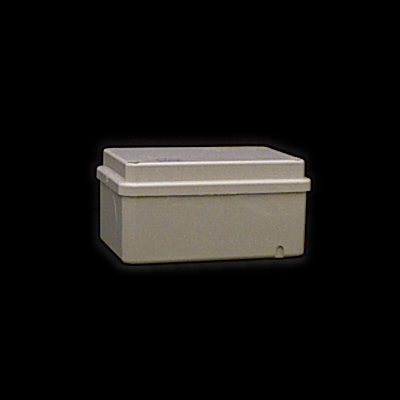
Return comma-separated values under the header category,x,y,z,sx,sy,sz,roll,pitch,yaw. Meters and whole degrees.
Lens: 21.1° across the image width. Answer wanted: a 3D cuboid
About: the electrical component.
category,x,y,z,sx,sy,sz,roll,pitch,yaw
electrical component,0.000,0.000,0.642,0.113,0.057,0.077,-2,11,-17
